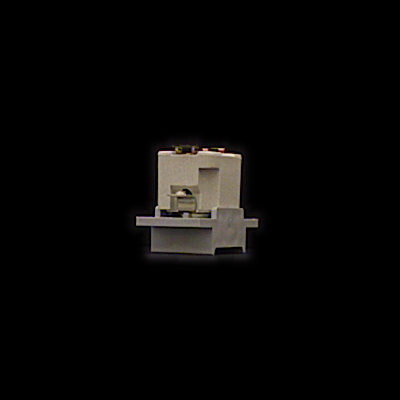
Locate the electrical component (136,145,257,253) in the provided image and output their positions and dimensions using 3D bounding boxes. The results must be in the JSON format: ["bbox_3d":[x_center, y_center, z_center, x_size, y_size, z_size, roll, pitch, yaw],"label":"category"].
[{"bbox_3d":[0.000,0.000,0.649,0.042,0.064,0.081,2,0,26],"label":"electrical component"}]
